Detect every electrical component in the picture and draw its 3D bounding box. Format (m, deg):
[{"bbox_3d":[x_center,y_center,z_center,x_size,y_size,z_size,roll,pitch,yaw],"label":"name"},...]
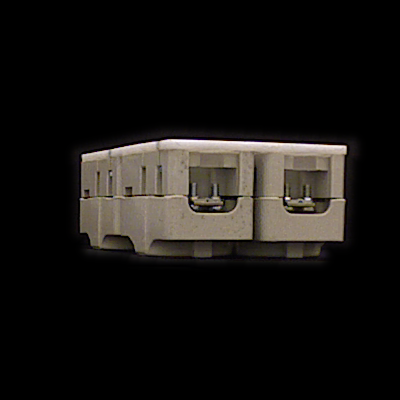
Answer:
[{"bbox_3d":[0.000,0.000,0.649,0.106,0.060,0.186,2,-1,-20],"label":"electrical component"}]
